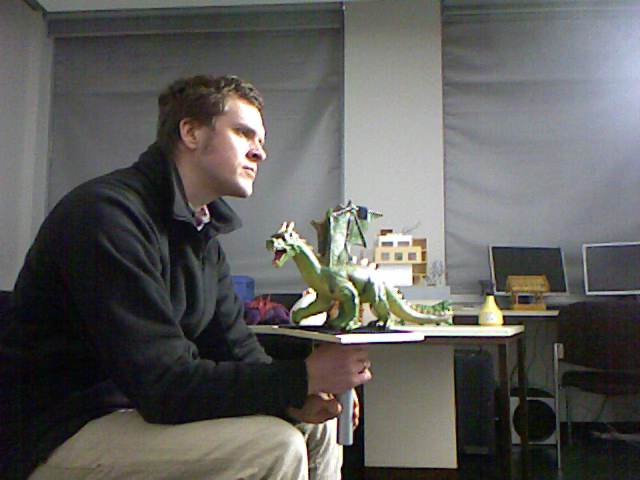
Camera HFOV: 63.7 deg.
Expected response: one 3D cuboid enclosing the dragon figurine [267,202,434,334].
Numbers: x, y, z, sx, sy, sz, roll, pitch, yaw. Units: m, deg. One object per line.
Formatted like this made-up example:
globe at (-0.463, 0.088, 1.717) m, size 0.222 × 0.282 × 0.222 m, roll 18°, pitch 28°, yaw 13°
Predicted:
dragon figurine at (0.071, 0.048, 0.982) m, size 0.410 × 0.244 × 0.122 m, roll 4°, pitch -4°, yaw -37°
